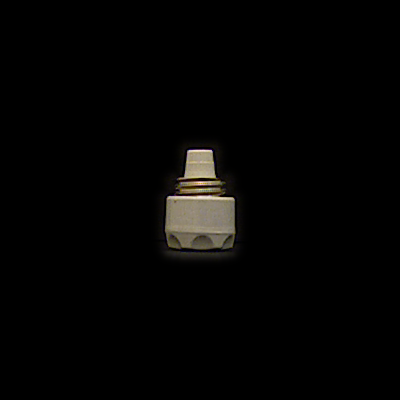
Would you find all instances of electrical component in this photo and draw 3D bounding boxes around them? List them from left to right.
[{"bbox_3d":[0.000,0.000,0.656,0.043,0.062,0.043,0,2,1],"label":"electrical component"}]
